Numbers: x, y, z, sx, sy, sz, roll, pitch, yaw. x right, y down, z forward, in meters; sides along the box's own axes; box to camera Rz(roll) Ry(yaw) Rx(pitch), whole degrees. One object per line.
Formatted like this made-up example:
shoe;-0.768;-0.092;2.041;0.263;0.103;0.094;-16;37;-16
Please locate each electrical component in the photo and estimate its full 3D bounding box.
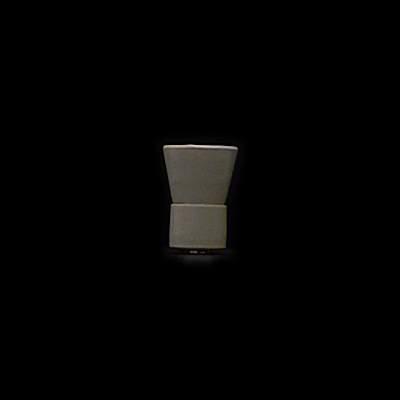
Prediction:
electrical component;0.000;0.000;0.648;0.044;0.065;0.044;2;2;0
